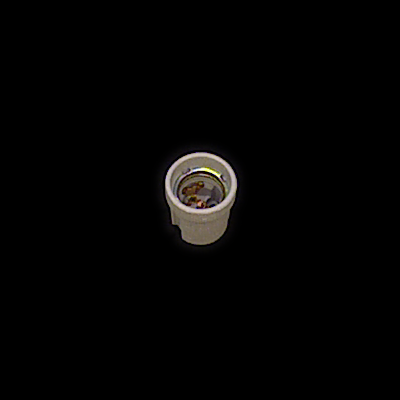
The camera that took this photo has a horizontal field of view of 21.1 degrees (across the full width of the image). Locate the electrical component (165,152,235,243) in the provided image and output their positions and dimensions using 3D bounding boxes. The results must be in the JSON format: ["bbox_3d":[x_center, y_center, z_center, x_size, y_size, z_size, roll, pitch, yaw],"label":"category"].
[{"bbox_3d":[0.000,0.000,0.628,0.040,0.040,0.046,0,-28,-1],"label":"electrical component"}]
